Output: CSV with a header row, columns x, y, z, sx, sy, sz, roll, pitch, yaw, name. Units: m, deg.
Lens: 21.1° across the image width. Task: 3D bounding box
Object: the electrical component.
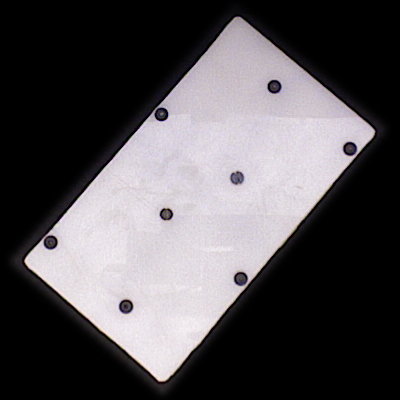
x,y,z,sx,sy,sz,roll,pitch,yaw,name
0.000,0.000,0.625,0.105,0.187,0.060,40,-5,4,electrical component
